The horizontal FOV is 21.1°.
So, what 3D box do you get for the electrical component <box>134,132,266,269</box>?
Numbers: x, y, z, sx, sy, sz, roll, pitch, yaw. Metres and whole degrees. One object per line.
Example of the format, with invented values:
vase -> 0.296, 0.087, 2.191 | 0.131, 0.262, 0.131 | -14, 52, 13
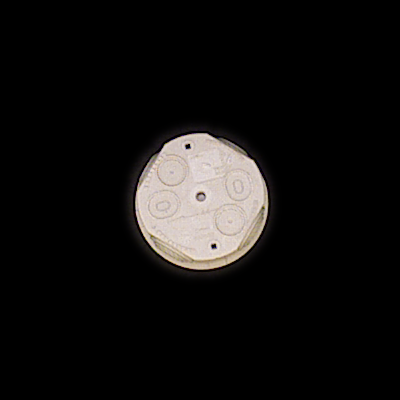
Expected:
electrical component -> 0.000, 0.000, 0.634 | 0.080, 0.080, 0.050 | 0, -7, 1
